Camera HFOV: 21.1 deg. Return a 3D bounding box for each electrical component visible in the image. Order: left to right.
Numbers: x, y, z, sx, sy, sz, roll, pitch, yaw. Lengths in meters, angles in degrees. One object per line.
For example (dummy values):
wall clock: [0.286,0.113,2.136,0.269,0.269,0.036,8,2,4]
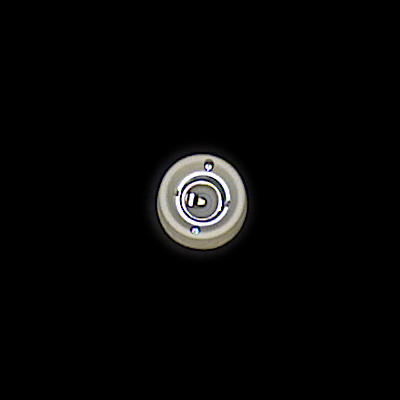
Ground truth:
electrical component: [0.000,0.000,0.634,0.055,0.055,0.047,0,-7,0]
